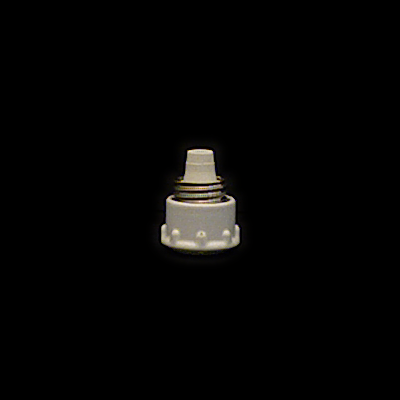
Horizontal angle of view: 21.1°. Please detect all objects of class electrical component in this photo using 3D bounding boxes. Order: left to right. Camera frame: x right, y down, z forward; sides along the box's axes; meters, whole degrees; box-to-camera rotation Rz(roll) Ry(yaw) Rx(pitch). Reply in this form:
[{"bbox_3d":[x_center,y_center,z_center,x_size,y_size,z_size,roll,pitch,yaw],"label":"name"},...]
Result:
[{"bbox_3d":[0.000,0.000,0.650,0.048,0.062,0.048,0,11,1],"label":"electrical component"}]
